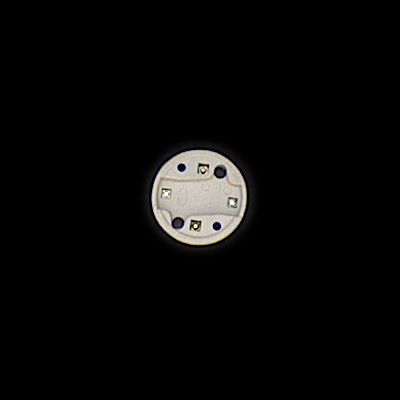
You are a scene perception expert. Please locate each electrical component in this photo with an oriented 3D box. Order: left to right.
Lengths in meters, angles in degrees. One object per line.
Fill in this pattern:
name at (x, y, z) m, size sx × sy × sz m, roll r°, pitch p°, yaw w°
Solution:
electrical component at (0.000, 0.000, 0.636) m, size 0.055 × 0.055 × 0.047 m, roll 0°, pitch -6°, yaw 0°
